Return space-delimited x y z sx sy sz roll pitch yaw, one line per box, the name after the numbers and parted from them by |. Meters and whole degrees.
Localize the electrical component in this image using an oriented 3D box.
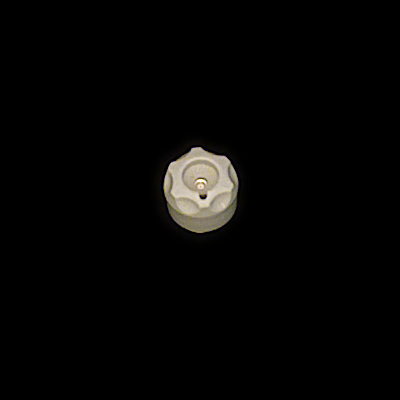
0.000 0.000 0.634 0.043 0.043 0.062 0 -27 1 | electrical component
